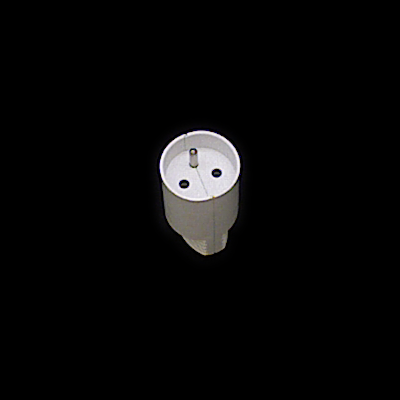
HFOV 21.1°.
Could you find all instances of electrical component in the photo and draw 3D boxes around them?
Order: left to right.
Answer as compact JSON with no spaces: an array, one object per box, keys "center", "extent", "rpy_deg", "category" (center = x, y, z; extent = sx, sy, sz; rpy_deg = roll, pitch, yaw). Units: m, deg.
[{"center":[0.000,0.000,0.616],"extent":[0.043,0.043,0.081],"rpy_deg":[0,-28,0],"category":"electrical component"}]
